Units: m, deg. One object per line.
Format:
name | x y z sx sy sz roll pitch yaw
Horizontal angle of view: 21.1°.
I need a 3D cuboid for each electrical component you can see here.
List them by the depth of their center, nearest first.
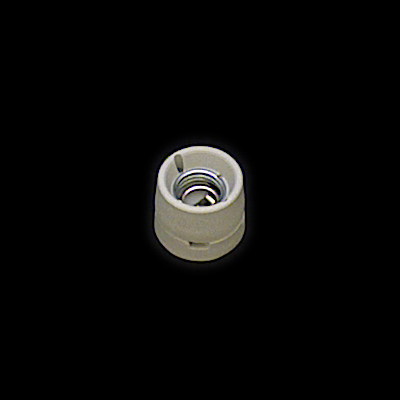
electrical component | 0.000 0.000 0.633 0.055 0.055 0.047 0 -36 -1
